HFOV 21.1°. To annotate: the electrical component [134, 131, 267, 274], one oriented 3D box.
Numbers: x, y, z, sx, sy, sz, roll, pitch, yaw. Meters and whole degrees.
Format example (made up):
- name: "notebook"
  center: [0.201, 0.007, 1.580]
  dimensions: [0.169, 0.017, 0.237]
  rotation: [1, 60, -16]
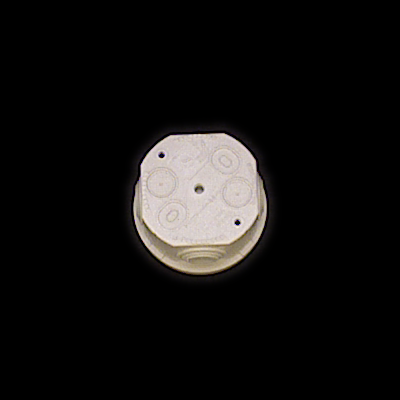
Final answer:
- name: "electrical component"
  center: [0.000, 0.000, 0.632]
  dimensions: [0.080, 0.080, 0.050]
  rotation: [0, -17, 0]
